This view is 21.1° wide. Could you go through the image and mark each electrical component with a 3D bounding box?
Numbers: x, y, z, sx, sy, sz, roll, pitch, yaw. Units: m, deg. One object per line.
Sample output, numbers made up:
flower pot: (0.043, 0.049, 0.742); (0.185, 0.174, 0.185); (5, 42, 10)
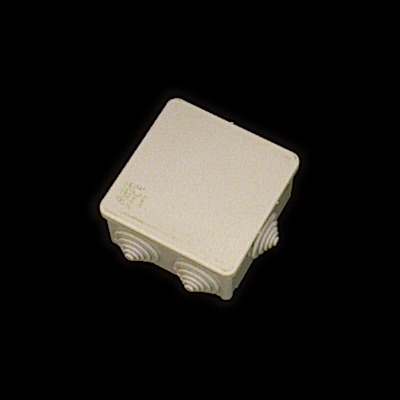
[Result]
electrical component: (0.000, 0.000, 0.639); (0.099, 0.100, 0.048); (27, -23, 12)
